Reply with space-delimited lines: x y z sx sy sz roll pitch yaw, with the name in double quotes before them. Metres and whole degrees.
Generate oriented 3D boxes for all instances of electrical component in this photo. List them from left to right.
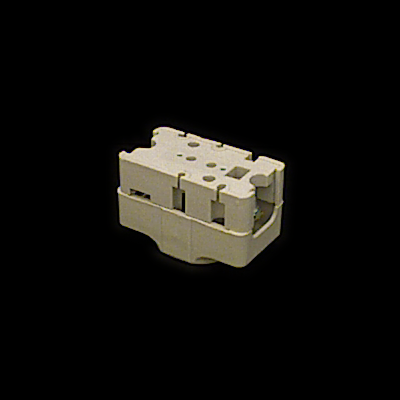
"electrical component" 0.000 0.000 0.643 0.088 0.056 0.050 19 36 26
